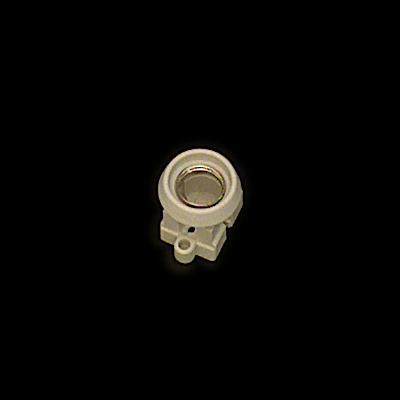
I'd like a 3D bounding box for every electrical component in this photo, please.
[{"bbox_3d":[0.000,0.000,0.637,0.048,0.067,0.055,22,-24,9],"label":"electrical component"}]
